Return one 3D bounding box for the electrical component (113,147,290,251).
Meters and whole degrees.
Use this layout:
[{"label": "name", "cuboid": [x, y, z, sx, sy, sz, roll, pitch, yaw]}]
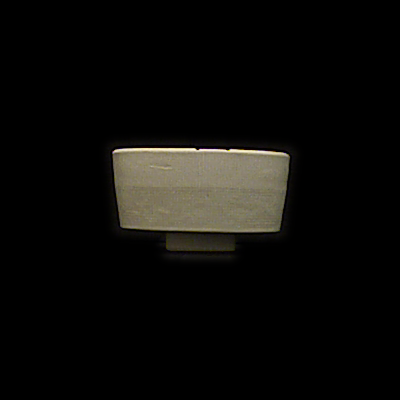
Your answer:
[{"label": "electrical component", "cuboid": [0.000, 0.000, 0.659, 0.108, 0.060, 0.108, 1, 1, 1]}]
